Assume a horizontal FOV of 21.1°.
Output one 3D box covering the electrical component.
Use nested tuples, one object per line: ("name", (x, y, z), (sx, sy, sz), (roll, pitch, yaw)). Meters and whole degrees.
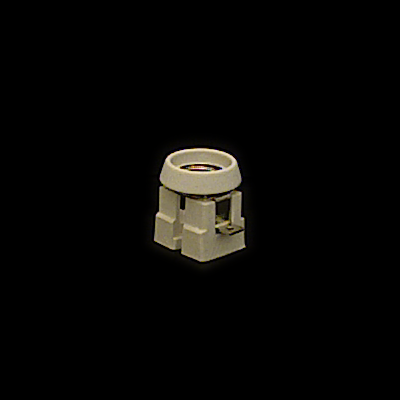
("electrical component", (0.000, 0.000, 0.647), (0.048, 0.056, 0.065), (-22, 31, -40))
